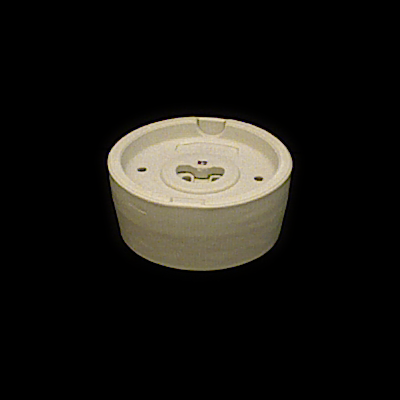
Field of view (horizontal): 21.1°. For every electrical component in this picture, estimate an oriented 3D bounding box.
[{"bbox_3d":[0.000,0.000,0.644,0.108,0.061,0.106,1,32,0],"label":"electrical component"}]
